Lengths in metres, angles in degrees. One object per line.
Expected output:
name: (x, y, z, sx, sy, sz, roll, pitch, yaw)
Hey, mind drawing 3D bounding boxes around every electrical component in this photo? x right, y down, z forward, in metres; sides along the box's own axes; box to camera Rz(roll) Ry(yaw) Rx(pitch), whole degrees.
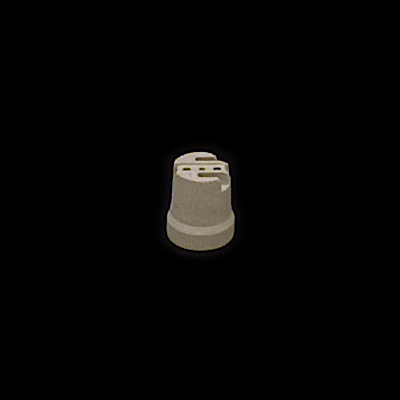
electrical component: (0.000, 0.000, 0.637, 0.040, 0.046, 0.040, 0, 32, 0)
